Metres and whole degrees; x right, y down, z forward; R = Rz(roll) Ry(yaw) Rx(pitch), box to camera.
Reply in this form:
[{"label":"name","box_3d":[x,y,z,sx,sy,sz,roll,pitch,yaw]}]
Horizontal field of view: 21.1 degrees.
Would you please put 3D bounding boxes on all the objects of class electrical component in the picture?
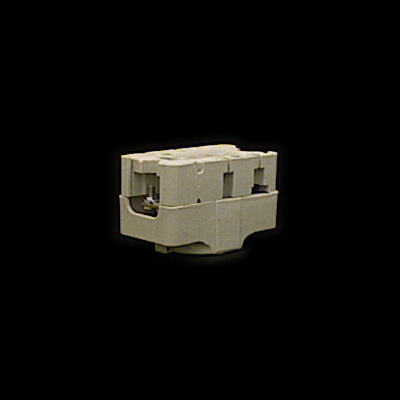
[{"label":"electrical component","box_3d":[0.000,0.000,0.651,0.090,0.056,0.049,-10,17,-42]}]
